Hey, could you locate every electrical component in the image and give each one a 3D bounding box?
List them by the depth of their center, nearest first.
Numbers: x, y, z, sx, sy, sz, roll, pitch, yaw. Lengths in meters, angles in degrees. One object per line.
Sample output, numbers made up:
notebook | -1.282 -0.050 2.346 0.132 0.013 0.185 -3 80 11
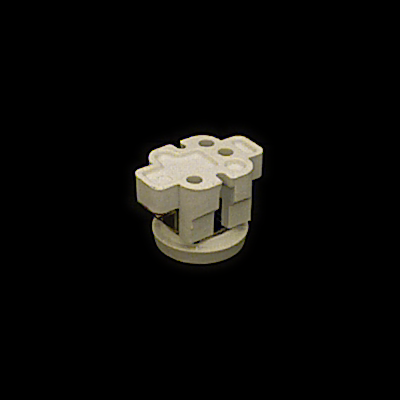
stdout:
electrical component | 0.000 0.000 0.640 0.079 0.057 0.057 -23 40 -30
